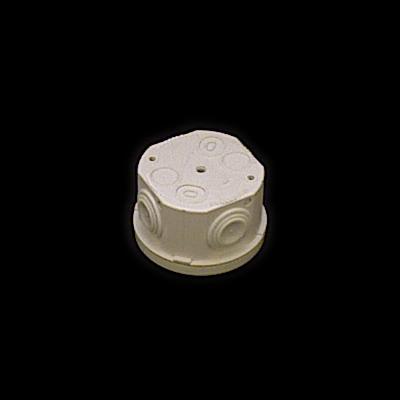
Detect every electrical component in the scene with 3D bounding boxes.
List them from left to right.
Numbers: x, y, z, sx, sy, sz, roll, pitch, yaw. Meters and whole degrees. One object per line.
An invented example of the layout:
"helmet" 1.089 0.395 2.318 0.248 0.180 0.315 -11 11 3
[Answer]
"electrical component" 0.000 0.000 0.634 0.080 0.051 0.080 1 42 -1
